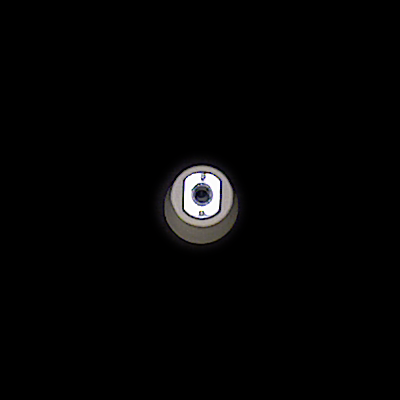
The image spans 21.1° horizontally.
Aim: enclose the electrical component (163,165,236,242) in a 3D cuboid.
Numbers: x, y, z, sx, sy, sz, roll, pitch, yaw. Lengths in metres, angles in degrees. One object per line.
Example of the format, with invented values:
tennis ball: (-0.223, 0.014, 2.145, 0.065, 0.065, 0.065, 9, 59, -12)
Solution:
electrical component: (0.000, 0.000, 0.625, 0.044, 0.044, 0.065, 0, -6, -1)
